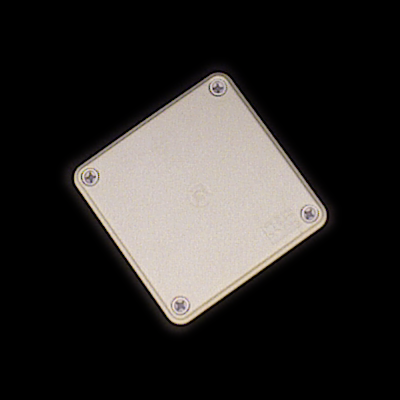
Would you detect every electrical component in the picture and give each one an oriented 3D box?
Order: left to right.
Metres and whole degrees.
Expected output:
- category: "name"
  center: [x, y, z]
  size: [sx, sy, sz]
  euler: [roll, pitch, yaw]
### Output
- category: "electrical component"
  center: [0.000, 0.000, 0.631]
  size: [0.109, 0.109, 0.056]
  euler: [-35, -6, -3]
